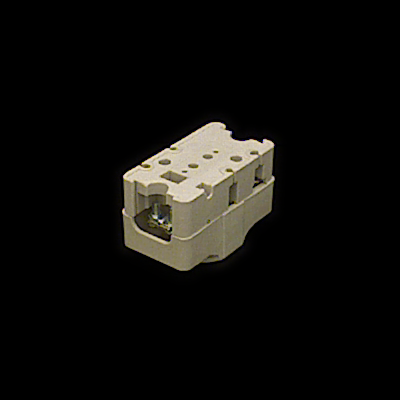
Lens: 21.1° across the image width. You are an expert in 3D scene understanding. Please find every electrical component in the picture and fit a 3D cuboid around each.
[{"bbox_3d":[0.000,0.000,0.642,0.049,0.056,0.089,23,39,30],"label":"electrical component"}]
